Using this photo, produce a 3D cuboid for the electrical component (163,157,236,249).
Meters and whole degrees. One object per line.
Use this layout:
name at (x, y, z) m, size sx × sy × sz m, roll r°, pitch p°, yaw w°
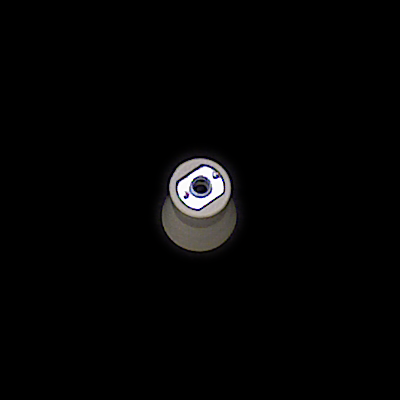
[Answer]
electrical component at (0.000, 0.000, 0.624) m, size 0.044 × 0.044 × 0.065 m, roll 0°, pitch -16°, yaw -1°
